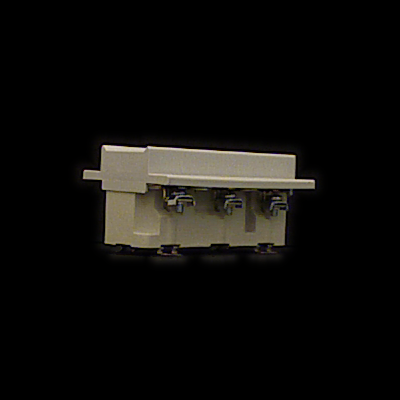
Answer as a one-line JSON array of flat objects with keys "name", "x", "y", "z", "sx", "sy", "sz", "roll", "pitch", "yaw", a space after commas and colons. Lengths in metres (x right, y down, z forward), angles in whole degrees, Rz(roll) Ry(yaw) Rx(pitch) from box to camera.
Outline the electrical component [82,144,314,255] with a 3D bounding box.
[{"name": "electrical component", "x": 0.000, "y": 0.000, "z": 0.662, "sx": 0.122, "sy": 0.063, "sz": 0.078, "roll": 1, "pitch": 2, "yaw": -42}]
